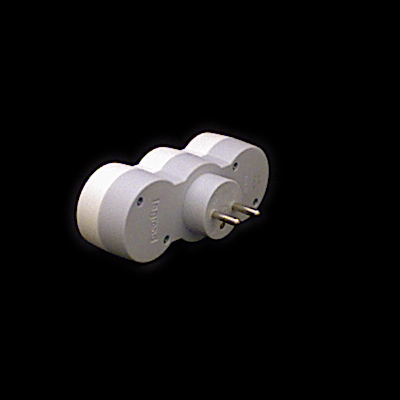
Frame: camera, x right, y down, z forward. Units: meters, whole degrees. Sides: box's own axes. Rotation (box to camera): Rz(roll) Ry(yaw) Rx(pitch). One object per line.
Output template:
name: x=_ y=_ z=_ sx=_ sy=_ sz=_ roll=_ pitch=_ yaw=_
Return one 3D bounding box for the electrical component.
electrical component: x=0.000 y=0.000 z=0.643 sx=0.073 sy=0.053 sz=0.137 roll=20 pitch=27 yaw=35
